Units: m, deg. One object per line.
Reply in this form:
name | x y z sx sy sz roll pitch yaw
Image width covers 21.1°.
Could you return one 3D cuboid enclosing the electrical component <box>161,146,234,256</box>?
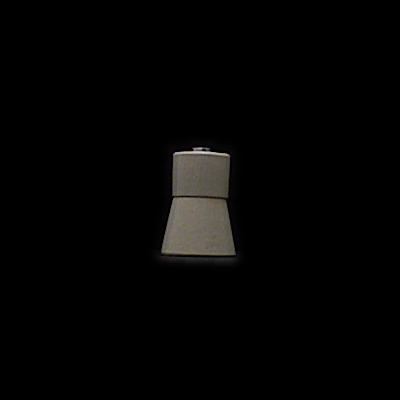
electrical component | 0.000 0.000 0.649 0.044 0.065 0.044 2 1 0
